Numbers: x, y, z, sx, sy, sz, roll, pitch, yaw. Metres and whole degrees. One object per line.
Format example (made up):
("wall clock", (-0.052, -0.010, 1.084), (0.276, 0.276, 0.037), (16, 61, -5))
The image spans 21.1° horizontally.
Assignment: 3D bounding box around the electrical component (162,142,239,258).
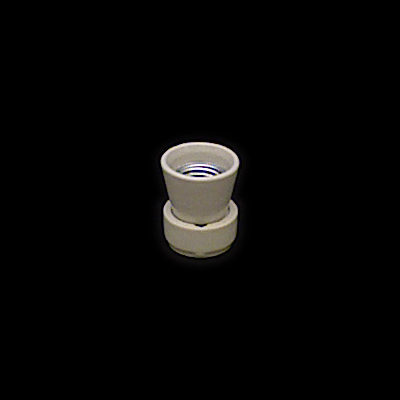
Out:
("electrical component", (0.000, 0.000, 0.634), (0.045, 0.056, 0.044), (0, 31, 0))
